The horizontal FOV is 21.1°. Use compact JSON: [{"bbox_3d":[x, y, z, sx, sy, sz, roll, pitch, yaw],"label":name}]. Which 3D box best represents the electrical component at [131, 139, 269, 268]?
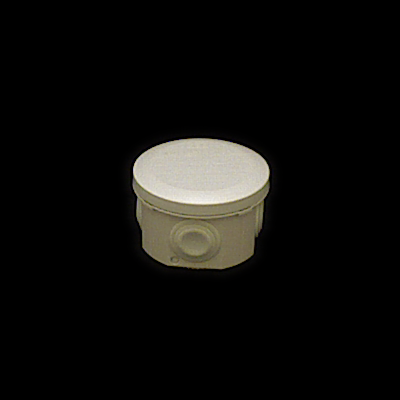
[{"bbox_3d":[0.000,0.000,0.637,0.080,0.051,0.079,1,31,0],"label":"electrical component"}]
